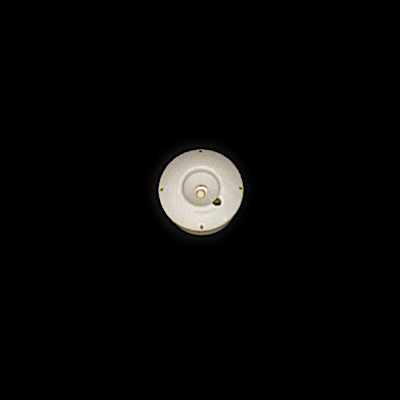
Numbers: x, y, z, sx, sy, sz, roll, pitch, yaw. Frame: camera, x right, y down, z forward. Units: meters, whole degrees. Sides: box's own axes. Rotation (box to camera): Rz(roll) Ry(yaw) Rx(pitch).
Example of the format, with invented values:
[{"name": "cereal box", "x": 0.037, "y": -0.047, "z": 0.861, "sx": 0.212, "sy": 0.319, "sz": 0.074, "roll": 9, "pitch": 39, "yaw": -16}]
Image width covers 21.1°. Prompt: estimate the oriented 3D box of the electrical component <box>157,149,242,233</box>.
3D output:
[{"name": "electrical component", "x": 0.000, "y": 0.000, "z": 0.634, "sx": 0.048, "sy": 0.048, "sz": 0.062, "roll": 0, "pitch": -16, "yaw": 1}]
